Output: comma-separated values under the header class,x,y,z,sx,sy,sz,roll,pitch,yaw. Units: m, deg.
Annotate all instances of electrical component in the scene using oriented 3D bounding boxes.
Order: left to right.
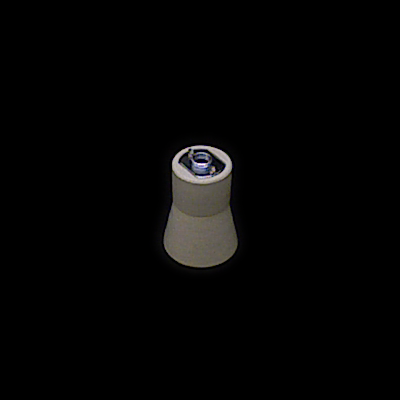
class,x,y,z,sx,sy,sz,roll,pitch,yaw
electrical component,0.000,0.000,0.630,0.044,0.066,0.044,1,41,-1
